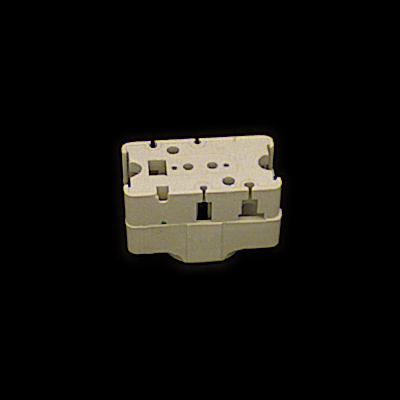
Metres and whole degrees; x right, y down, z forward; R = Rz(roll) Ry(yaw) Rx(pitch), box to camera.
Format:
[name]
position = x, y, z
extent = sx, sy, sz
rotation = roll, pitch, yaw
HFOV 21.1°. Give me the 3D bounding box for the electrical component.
[electrical component]
position = 0.000, 0.000, 0.639
extent = 0.090, 0.056, 0.049
rotation = -3, 43, -4
